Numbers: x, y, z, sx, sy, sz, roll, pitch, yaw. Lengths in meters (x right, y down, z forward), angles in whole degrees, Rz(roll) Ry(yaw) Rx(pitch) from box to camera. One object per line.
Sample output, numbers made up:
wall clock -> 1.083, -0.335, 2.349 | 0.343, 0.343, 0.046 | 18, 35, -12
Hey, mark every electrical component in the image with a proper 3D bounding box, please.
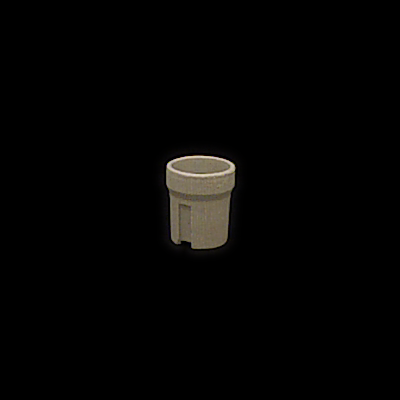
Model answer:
electrical component -> 0.000, 0.000, 0.642 | 0.040, 0.047, 0.039 | 1, 21, 0
